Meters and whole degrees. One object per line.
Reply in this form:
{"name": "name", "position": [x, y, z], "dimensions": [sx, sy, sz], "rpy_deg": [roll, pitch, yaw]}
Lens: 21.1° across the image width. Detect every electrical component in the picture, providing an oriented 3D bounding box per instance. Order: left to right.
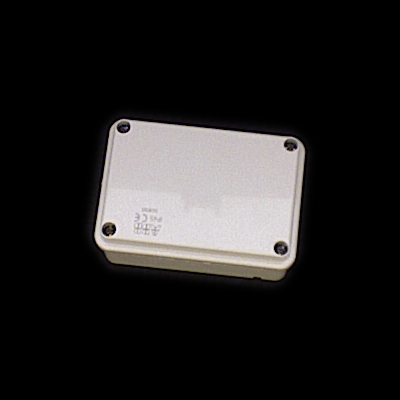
{"name": "electrical component", "position": [0.000, 0.000, 0.626], "dimensions": [0.113, 0.078, 0.057], "rpy_deg": [6, -17, 2]}
